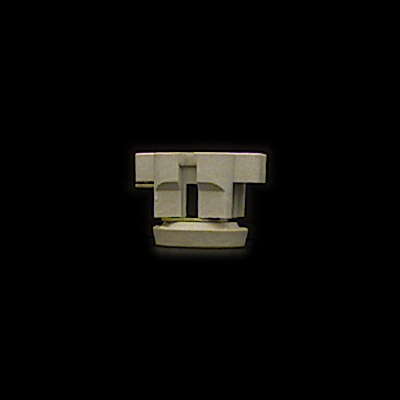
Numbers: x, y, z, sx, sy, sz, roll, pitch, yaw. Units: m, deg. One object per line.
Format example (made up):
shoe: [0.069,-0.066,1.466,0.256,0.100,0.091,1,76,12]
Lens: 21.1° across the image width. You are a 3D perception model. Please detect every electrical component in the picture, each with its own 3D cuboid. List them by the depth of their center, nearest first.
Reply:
electrical component: [0.000,0.000,0.655,0.078,0.057,0.058,0,2,15]
